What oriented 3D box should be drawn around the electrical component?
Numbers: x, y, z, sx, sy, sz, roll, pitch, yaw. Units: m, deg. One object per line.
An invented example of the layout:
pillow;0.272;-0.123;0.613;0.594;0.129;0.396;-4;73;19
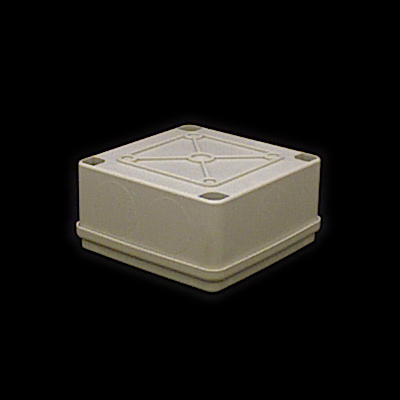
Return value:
electrical component;0.000;0.000;0.637;0.108;0.057;0.108;17;26;35
